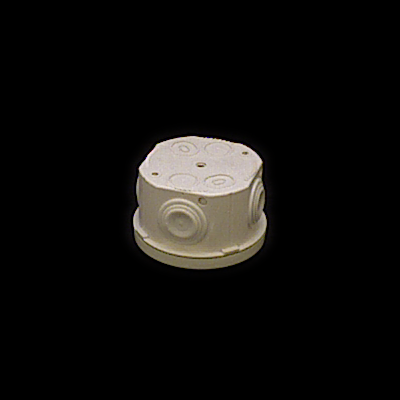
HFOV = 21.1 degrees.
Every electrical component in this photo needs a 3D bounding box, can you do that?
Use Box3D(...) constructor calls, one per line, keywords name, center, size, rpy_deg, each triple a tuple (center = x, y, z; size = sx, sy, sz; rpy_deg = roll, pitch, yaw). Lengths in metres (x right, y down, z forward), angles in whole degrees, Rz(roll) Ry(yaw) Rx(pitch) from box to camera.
Box3D(name="electrical component", center=(0.000, 0.000, 0.638), size=(0.080, 0.051, 0.079), rpy_deg=(1, 31, -1))
